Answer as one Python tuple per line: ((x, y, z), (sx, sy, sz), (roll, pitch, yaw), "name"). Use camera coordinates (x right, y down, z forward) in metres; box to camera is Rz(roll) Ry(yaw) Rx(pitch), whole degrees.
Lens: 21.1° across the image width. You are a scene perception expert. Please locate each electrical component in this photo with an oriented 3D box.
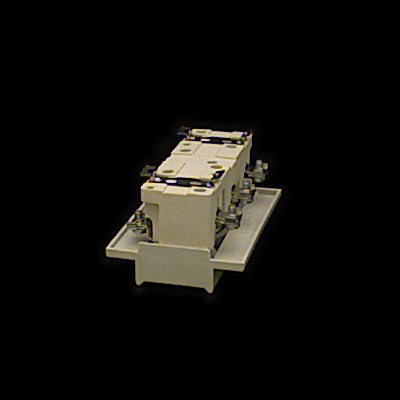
((0.000, 0.000, 0.645), (0.078, 0.064, 0.120), (5, 22, 12), "electrical component")
